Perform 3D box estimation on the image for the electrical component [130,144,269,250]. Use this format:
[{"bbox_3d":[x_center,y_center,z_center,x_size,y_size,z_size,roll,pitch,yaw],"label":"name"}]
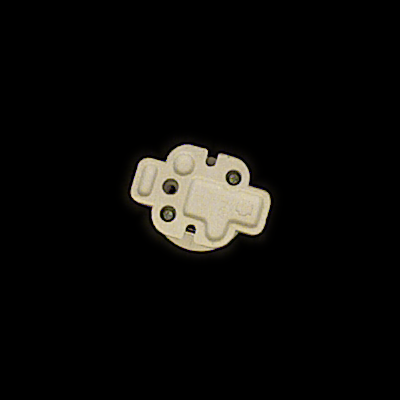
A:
[{"bbox_3d":[0.000,0.000,0.637,0.078,0.058,0.056,15,-6,1],"label":"electrical component"}]
